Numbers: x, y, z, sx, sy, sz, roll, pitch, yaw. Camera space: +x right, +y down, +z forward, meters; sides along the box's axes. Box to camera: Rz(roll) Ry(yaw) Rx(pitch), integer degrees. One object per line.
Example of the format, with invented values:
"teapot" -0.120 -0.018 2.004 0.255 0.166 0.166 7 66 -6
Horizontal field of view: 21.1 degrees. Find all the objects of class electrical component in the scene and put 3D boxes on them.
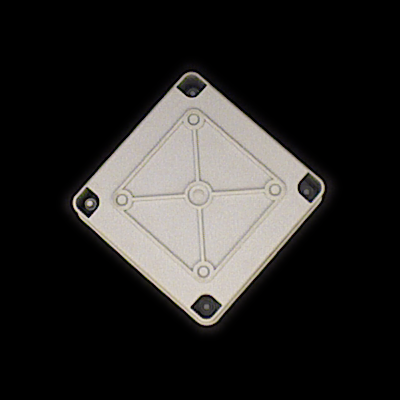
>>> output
"electrical component" 0.000 0.000 0.628 0.109 0.109 0.056 41 -5 5
